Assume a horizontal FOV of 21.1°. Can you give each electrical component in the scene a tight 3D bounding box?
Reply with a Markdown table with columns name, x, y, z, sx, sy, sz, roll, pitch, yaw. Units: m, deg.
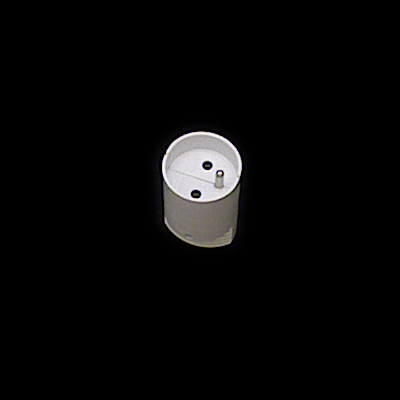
| name | x | y | z | sx | sy | sz | roll | pitch | yaw |
| --- | --- | --- | --- | --- | --- | --- | --- | --- | --- |
| electrical component | 0.000 | 0.000 | 0.617 | 0.043 | 0.043 | 0.081 | 0 | -27 | 0 |
